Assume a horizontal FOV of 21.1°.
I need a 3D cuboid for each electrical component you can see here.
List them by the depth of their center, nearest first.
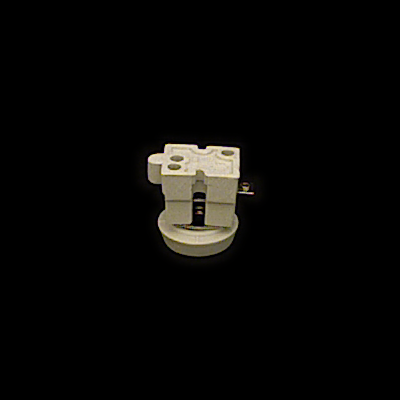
[{"bbox_3d":[0.000,0.000,0.642,0.066,0.056,0.048,2,31,0],"label":"electrical component"}]
